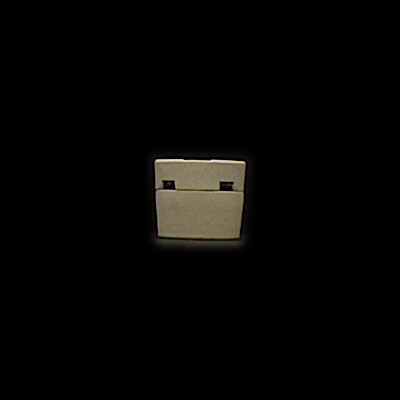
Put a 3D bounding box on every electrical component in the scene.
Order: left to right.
[{"bbox_3d":[0.000,0.000,0.649,0.055,0.047,0.055,1,0,0],"label":"electrical component"}]
